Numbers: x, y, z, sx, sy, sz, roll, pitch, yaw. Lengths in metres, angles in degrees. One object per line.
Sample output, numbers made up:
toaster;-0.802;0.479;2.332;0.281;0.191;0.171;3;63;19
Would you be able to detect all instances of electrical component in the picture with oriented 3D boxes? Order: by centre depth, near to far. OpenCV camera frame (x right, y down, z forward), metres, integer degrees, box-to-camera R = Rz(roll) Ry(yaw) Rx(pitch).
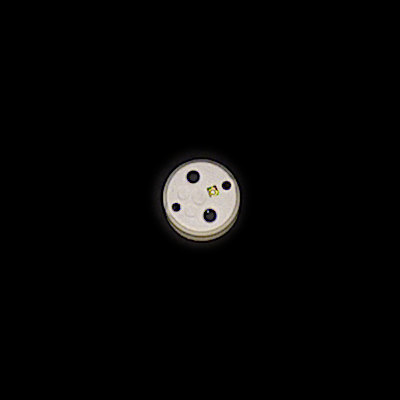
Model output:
electrical component;0.000;0.000;0.629;0.045;0.045;0.055;0;-6;1
